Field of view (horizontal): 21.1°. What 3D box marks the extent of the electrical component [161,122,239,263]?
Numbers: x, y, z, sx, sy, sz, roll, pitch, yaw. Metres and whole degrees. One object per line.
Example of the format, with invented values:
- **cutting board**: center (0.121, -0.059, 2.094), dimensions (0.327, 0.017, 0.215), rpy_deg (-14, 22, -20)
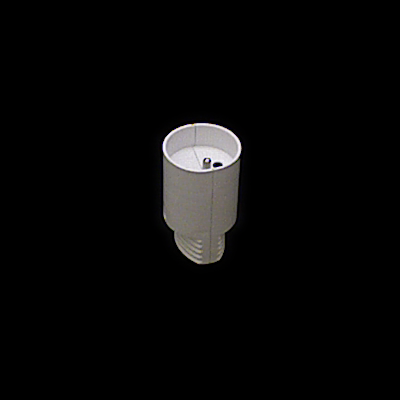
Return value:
- **electrical component**: center (0.000, 0.000, 0.622), dimensions (0.043, 0.082, 0.042), rpy_deg (0, 42, 0)
